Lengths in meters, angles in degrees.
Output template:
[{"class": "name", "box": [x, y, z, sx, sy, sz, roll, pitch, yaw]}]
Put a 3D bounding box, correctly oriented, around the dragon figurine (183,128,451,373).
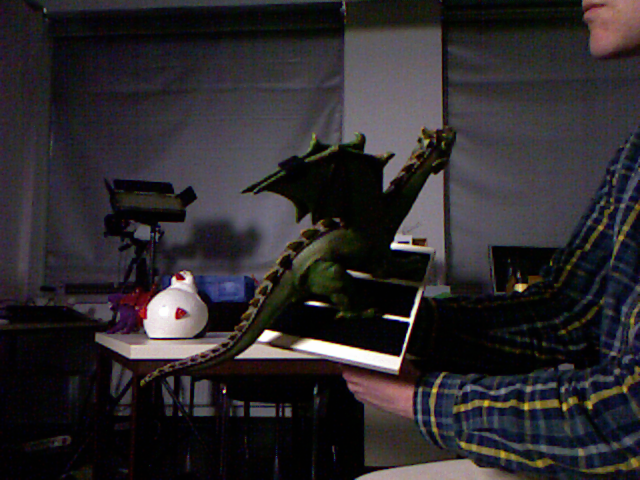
[{"class": "dragon figurine", "box": [0.000, -0.007, 0.591, 0.414, 0.237, 0.124, -31, 47, -17]}]
